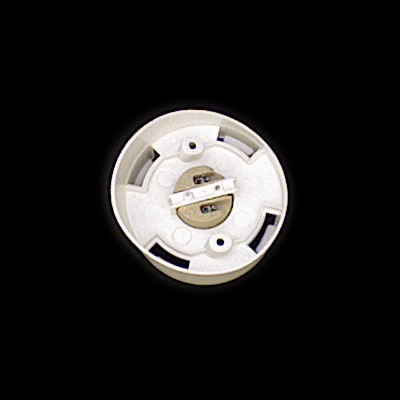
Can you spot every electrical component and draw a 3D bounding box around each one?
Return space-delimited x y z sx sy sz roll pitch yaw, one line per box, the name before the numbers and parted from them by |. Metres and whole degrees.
electrical component | 0.000 0.000 0.623 0.099 0.099 0.064 0 -16 1
